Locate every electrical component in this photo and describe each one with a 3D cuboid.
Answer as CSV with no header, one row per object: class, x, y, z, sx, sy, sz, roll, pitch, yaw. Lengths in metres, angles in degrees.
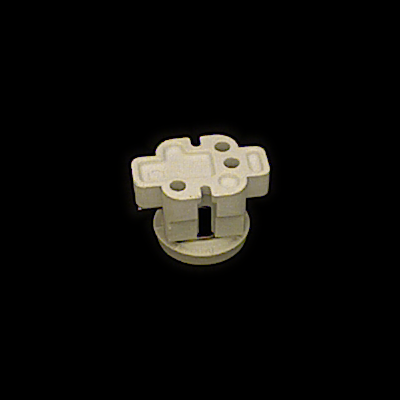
electrical component,0.000,0.000,0.638,0.079,0.057,0.057,-7,44,-6
